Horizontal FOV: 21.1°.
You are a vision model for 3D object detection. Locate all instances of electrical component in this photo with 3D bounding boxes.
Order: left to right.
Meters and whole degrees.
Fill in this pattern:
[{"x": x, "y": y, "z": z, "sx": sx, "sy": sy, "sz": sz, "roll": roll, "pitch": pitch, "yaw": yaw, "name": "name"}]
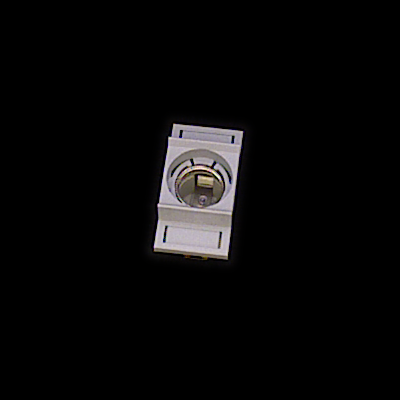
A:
[{"x": 0.000, "y": 0.000, "z": 0.625, "sx": 0.042, "sy": 0.081, "sz": 0.064, "roll": 6, "pitch": -27, "yaw": 4, "name": "electrical component"}]
